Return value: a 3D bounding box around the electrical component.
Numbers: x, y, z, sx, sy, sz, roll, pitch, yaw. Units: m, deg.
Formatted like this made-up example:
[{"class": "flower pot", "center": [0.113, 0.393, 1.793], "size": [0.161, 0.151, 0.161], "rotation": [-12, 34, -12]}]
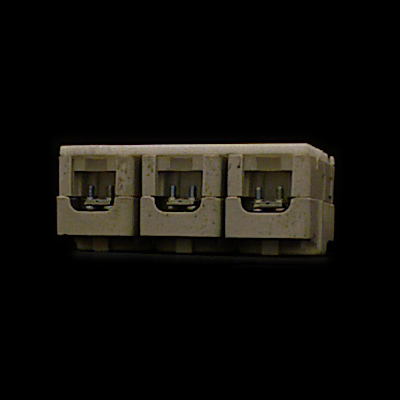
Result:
[{"class": "electrical component", "center": [0.000, 0.000, 0.655], "size": [0.150, 0.062, 0.090], "rotation": [1, -1, 16]}]
